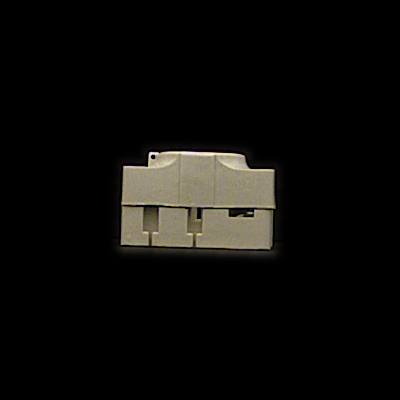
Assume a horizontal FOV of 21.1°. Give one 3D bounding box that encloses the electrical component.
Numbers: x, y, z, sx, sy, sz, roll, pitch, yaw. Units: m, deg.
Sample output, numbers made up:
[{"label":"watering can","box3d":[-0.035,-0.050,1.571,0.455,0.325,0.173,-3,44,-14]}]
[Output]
[{"label":"electrical component","box3d":[0.000,0.000,0.657,0.089,0.056,0.050,2,1,4]}]
